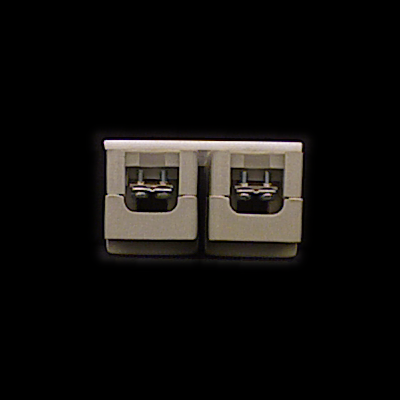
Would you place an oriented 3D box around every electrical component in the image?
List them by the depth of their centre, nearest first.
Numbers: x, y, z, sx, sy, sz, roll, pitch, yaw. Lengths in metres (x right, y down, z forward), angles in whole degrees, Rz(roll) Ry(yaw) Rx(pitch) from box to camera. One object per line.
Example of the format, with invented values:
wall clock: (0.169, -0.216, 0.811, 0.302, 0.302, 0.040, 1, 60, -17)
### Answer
electrical component: (0.000, 0.000, 0.650, 0.105, 0.060, 0.186, 1, -1, 0)
